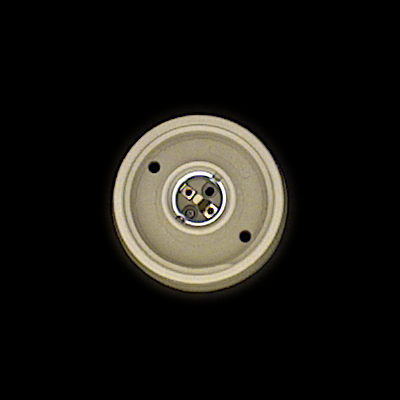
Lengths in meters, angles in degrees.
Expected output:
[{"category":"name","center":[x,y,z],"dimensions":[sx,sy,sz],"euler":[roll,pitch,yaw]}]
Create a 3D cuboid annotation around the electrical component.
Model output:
[{"category":"electrical component","center":[0.000,0.000,0.634],"dimensions":[0.108,0.108,0.060],"euler":[0,-6,0]}]
